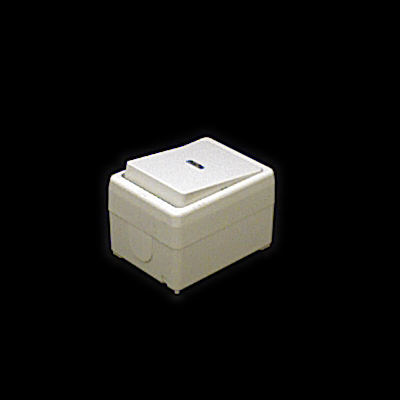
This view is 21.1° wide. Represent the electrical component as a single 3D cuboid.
[{"bbox_3d":[0.000,0.000,0.635,0.096,0.061,0.061,-25,40,-36],"label":"electrical component"}]
